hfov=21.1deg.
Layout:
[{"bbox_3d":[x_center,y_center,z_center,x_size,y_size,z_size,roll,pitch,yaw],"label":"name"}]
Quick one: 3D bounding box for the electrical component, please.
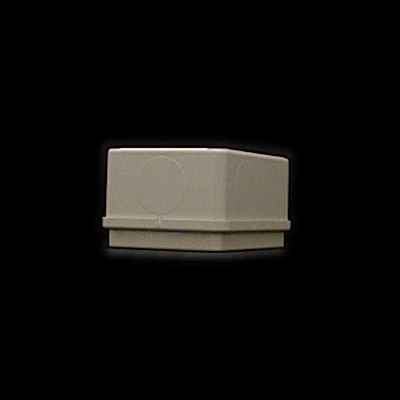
[{"bbox_3d":[0.000,0.000,0.649,0.078,0.057,0.113,2,1,25],"label":"electrical component"}]
